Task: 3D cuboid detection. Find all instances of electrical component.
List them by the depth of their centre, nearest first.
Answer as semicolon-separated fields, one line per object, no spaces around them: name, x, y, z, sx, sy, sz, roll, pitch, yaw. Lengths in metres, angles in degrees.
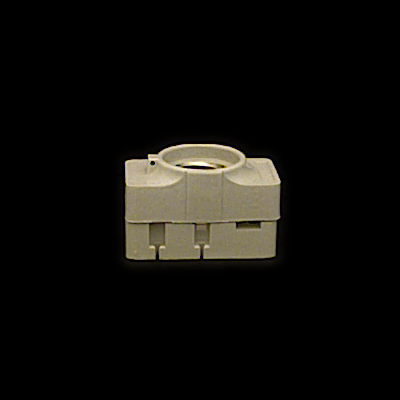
electrical component;0.000;0.000;0.647;0.090;0.056;0.049;-1;22;-5
